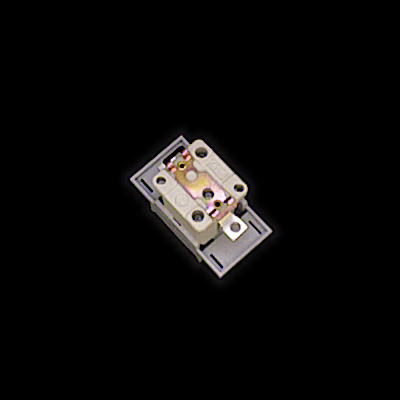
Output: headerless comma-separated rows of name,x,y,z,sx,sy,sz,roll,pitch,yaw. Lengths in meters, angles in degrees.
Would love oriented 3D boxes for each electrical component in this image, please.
electrical component,0.000,0.000,0.625,0.042,0.081,0.063,-41,-12,-11
